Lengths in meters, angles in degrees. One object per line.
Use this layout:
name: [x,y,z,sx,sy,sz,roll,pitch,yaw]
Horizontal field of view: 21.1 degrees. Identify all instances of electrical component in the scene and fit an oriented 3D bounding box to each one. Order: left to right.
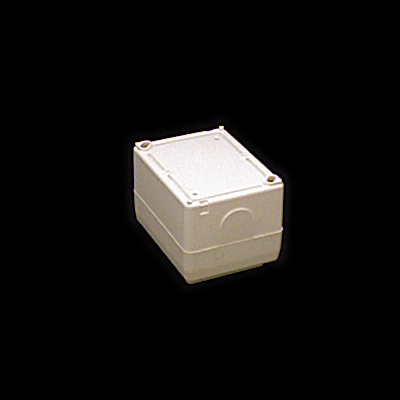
electrical component: [0.000,0.000,0.637,0.061,0.061,0.095,-13,33,-22]
